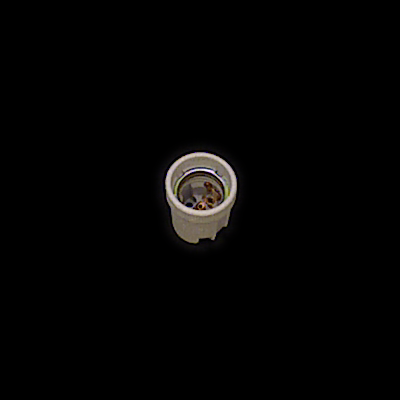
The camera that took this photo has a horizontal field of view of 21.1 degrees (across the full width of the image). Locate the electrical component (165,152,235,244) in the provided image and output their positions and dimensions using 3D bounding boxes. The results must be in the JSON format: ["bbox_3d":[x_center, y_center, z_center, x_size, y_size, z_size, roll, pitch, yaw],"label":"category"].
[{"bbox_3d":[0.000,0.000,0.627,0.040,0.040,0.046,0,-27,0],"label":"electrical component"}]
